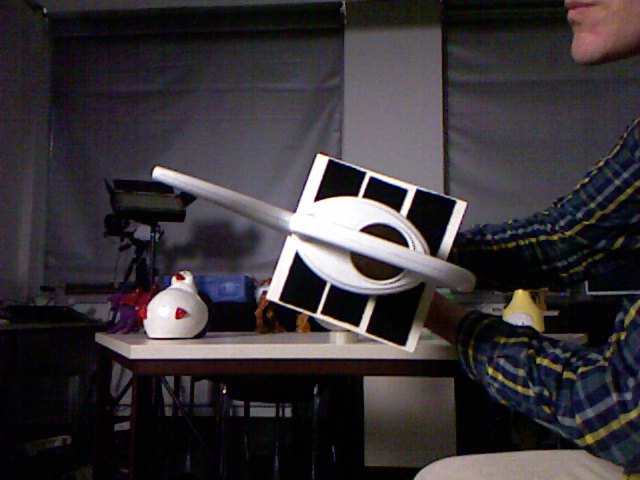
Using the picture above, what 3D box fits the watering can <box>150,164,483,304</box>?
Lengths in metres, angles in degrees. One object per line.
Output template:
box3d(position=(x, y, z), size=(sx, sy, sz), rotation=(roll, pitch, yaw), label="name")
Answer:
box3d(position=(0.003, -0.003, 0.582), size=(0.352, 0.106, 0.225), rotation=(20, -8, 6), label="watering can")
